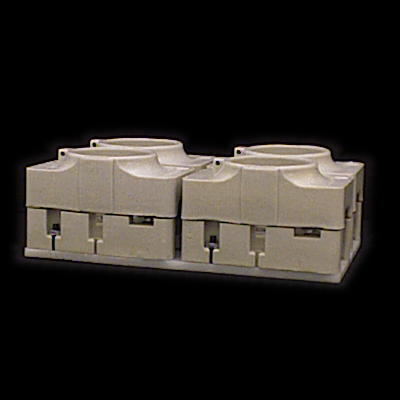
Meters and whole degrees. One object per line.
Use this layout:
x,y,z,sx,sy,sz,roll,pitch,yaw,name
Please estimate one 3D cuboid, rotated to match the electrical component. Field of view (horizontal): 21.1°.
0.000,0.000,0.643,0.186,0.060,0.105,4,10,15,electrical component
